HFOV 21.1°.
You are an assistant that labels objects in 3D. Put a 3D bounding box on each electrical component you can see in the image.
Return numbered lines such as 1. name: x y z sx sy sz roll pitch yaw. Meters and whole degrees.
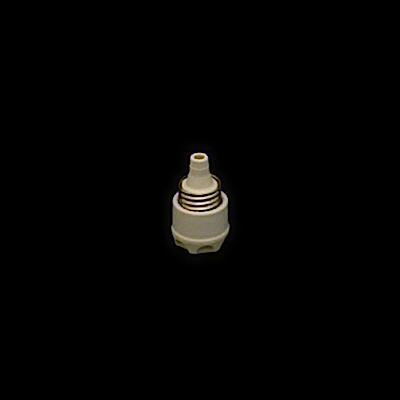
1. electrical component: 0.000 0.000 0.645 0.035 0.062 0.034 -1 32 1
